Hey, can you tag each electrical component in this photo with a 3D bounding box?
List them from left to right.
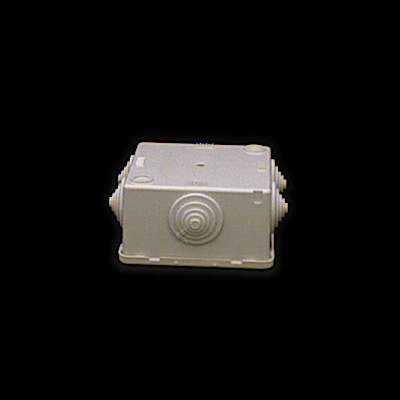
[{"bbox_3d":[0.000,0.000,0.640,0.100,0.049,0.098,2,21,2],"label":"electrical component"}]
